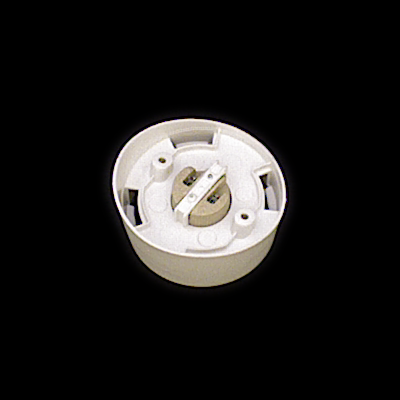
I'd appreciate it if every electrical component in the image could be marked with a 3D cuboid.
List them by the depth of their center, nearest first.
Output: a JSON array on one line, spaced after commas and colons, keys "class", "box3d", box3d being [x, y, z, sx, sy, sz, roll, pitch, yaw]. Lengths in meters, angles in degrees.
[{"class": "electrical component", "box3d": [0.000, 0.000, 0.623, 0.099, 0.099, 0.064, 0, -27, 0]}]
